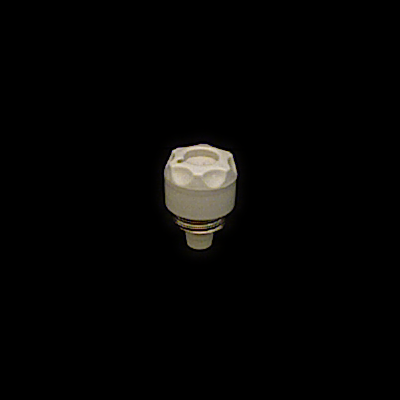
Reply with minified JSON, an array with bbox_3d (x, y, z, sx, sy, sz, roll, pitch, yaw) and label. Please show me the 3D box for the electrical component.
[{"bbox_3d":[0.000,0.000,0.642,0.043,0.063,0.043,1,31,0],"label":"electrical component"}]
